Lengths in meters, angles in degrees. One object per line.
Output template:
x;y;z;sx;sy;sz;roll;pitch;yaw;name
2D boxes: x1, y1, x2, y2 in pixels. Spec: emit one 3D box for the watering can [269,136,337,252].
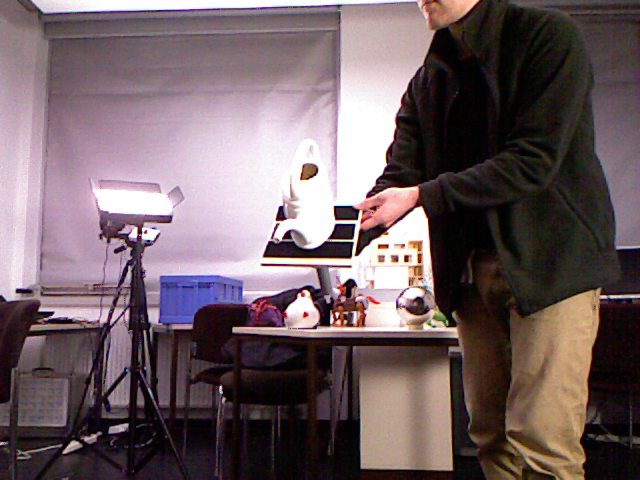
-0.037;-0.062;1.070;0.104;0.219;0.357;2;45;15;watering can
